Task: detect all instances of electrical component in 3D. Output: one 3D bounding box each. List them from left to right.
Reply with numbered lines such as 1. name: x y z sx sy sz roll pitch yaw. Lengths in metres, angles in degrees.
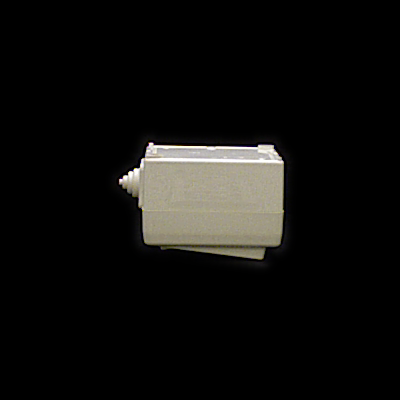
1. electrical component: 0.000 0.000 0.641 0.096 0.061 0.061 1 11 -2
